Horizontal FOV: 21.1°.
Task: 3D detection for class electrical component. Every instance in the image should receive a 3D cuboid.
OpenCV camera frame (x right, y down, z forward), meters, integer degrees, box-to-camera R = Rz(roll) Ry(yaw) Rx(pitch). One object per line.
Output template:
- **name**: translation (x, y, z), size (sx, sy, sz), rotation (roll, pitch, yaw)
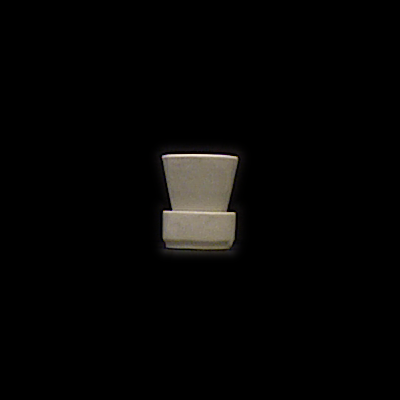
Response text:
- **electrical component**: translation (0.000, 0.000, 0.648), size (0.045, 0.055, 0.044), rotation (1, 1, 0)
